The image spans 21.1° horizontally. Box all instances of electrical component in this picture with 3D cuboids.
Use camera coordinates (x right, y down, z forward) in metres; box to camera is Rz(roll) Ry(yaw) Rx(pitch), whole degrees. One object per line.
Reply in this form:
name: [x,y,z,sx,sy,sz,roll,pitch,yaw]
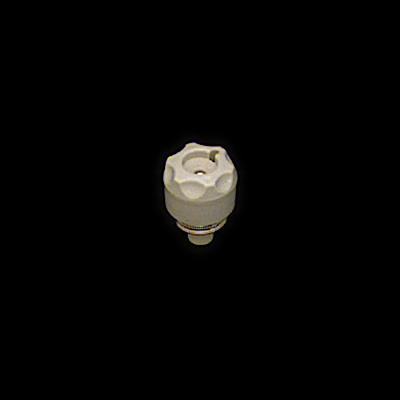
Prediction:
electrical component: [0.000,0.000,0.637,0.043,0.062,0.043,0,43,0]
